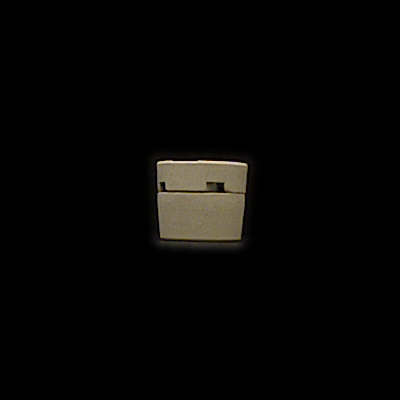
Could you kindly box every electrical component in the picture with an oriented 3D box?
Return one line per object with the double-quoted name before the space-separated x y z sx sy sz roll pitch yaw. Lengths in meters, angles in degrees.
"electrical component" 0.000 0.000 0.652 0.055 0.047 0.055 1 1 0
